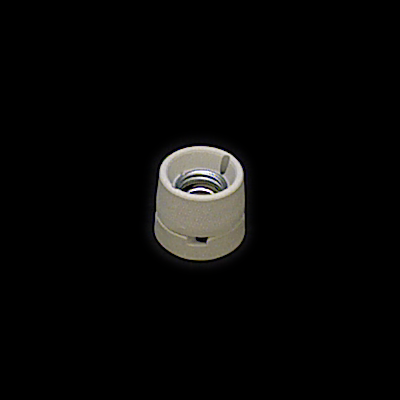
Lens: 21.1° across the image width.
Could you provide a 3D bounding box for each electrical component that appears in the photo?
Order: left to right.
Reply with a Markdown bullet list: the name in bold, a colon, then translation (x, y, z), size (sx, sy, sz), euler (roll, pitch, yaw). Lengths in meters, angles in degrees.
- **electrical component**: translation (0.000, 0.000, 0.637), size (0.055, 0.047, 0.055), euler (1, 42, -1)
